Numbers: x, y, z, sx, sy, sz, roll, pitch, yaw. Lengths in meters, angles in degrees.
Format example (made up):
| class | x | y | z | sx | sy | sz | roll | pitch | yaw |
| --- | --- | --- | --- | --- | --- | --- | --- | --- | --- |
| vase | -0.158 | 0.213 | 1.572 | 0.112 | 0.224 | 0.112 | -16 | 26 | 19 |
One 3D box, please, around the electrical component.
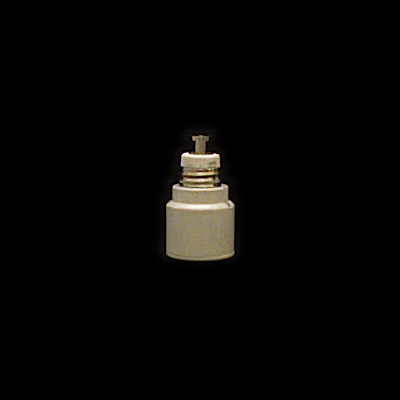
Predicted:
| class | x | y | z | sx | sy | sz | roll | pitch | yaw |
| --- | --- | --- | --- | --- | --- | --- | --- | --- | --- |
| electrical component | 0.000 | 0.000 | 0.641 | 0.040 | 0.079 | 0.040 | 0 | 11 | 0 |
